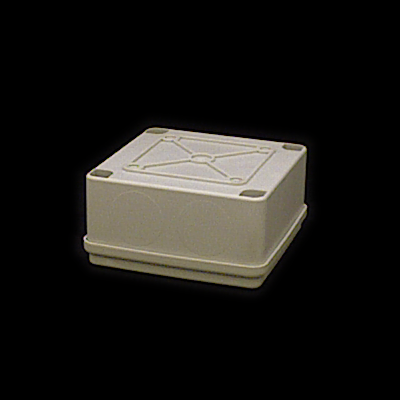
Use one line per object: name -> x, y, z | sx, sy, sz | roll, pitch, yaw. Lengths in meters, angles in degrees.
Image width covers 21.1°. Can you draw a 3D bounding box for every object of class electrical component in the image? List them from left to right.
electrical component -> 0.000, 0.000, 0.638 | 0.108, 0.057, 0.107 | 8, 22, 17
